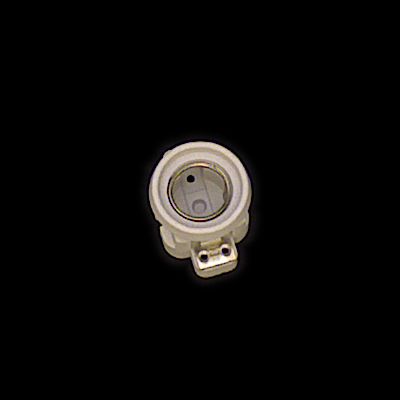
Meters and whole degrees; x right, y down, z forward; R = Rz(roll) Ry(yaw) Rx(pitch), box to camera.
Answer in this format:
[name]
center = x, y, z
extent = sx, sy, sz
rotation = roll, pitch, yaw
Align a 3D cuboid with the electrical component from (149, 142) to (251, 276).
[electrical component]
center = 0.000, 0.000, 0.628
extent = 0.058, 0.079, 0.056
rotation = -16, -16, -5
